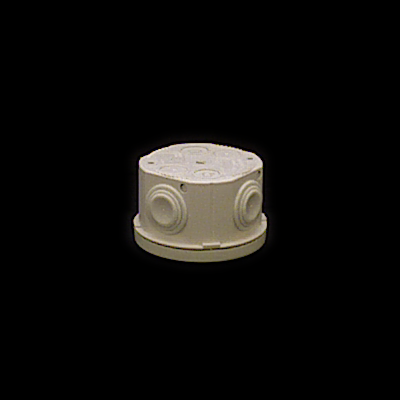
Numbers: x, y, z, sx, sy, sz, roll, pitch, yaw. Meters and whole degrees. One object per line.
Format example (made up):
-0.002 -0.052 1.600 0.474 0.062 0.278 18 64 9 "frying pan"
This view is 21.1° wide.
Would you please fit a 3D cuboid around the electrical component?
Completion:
0.000 0.000 0.640 0.080 0.051 0.079 0 21 0 "electrical component"
